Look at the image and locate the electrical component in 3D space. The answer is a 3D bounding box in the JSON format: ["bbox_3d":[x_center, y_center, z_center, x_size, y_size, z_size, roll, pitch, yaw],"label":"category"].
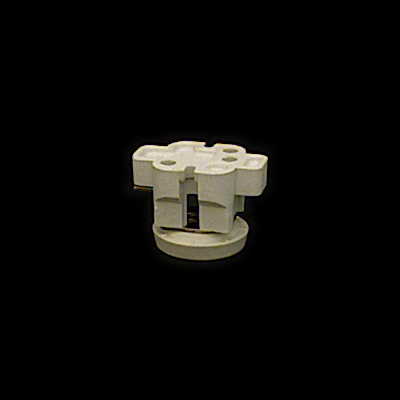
[{"bbox_3d":[0.000,0.000,0.645,0.078,0.057,0.057,4,23,12],"label":"electrical component"}]
